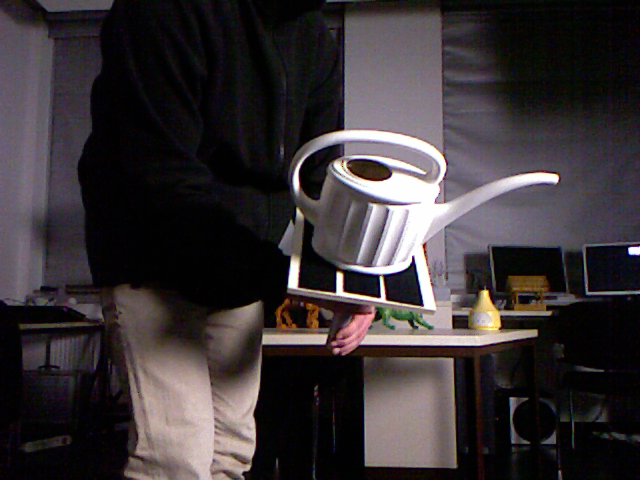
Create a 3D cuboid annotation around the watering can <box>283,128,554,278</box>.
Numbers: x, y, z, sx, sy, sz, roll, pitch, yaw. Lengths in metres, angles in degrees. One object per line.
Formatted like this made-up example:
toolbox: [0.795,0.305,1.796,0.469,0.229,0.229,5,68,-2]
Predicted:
watering can: [0.117,-0.039,0.704,0.348,0.219,0.106,10,40,-5]
